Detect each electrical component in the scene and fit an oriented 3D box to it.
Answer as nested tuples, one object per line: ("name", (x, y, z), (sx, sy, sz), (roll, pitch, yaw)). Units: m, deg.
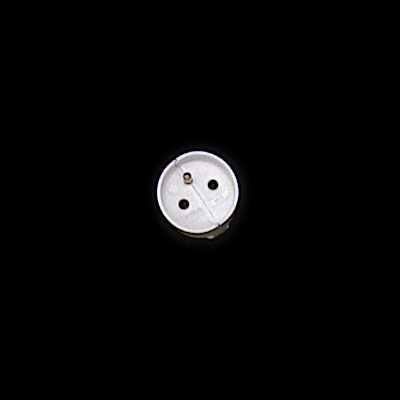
("electrical component", (0.000, 0.000, 0.615), (0.043, 0.043, 0.080), (0, -7, 0))
